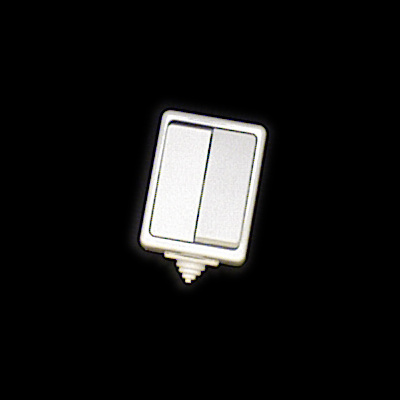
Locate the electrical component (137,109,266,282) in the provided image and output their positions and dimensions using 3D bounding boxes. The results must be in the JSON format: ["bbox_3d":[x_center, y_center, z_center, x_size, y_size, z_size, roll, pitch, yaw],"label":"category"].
[{"bbox_3d":[0.000,0.000,0.626,0.062,0.096,0.061,10,-7,2],"label":"electrical component"}]
